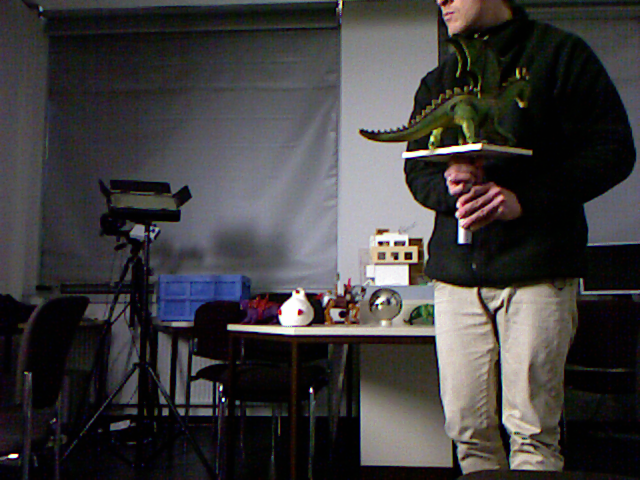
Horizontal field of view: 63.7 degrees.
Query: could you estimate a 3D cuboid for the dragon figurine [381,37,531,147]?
[{"bbox_3d":[0.326,-0.328,1.159,0.412,0.242,0.123,-1,9,-27],"label":"dragon figurine"}]
